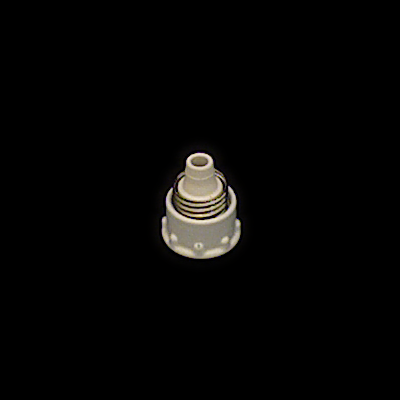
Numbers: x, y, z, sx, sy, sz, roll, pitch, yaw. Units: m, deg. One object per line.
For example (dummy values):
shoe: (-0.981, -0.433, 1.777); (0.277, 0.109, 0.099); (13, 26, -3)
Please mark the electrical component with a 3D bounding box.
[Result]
electrical component: (0.000, 0.000, 0.637); (0.048, 0.062, 0.047); (0, 41, 1)
